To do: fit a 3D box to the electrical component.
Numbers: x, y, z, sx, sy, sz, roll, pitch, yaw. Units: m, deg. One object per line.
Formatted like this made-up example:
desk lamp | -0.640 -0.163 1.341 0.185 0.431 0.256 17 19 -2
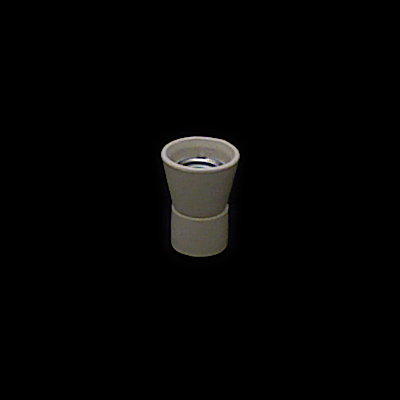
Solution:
electrical component | 0.000 0.000 0.635 0.044 0.066 0.044 1 30 0
